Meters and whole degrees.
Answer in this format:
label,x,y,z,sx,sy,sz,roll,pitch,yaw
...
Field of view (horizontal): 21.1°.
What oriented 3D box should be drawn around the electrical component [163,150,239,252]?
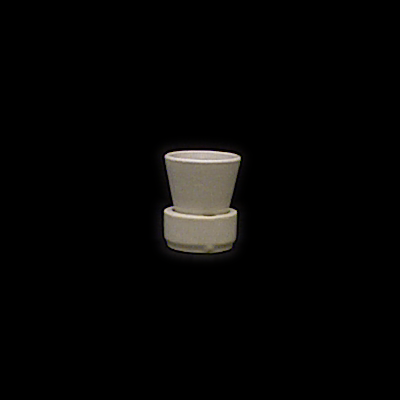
label,x,y,z,sx,sy,sz,roll,pitch,yaw
electrical component,0.000,0.000,0.646,0.045,0.055,0.044,2,11,0
